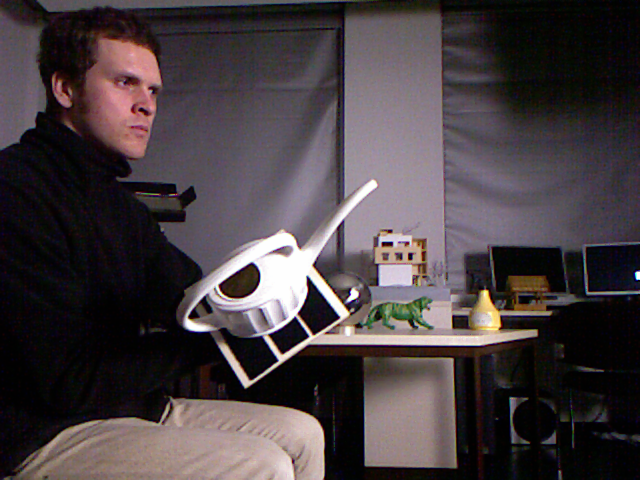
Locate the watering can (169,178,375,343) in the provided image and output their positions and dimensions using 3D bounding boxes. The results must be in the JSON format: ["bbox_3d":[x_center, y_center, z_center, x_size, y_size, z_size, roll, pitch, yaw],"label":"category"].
[{"bbox_3d":[-0.056,0.047,0.783,0.350,0.106,0.221,-32,-24,-8],"label":"watering can"}]
